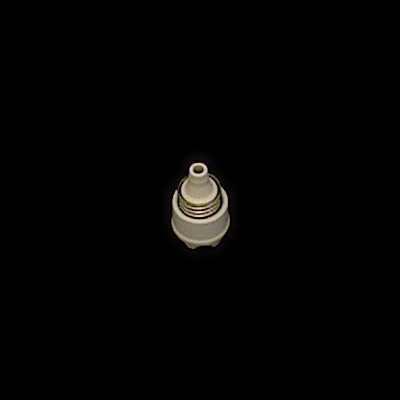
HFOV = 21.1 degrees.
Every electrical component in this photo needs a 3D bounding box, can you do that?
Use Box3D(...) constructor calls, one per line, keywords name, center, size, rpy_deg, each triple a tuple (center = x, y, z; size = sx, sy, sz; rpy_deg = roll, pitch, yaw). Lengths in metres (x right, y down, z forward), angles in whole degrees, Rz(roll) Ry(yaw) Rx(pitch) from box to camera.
Box3D(name="electrical component", center=(0.000, 0.000, 0.638), size=(0.035, 0.035, 0.062), rpy_deg=(0, -38, 2))
